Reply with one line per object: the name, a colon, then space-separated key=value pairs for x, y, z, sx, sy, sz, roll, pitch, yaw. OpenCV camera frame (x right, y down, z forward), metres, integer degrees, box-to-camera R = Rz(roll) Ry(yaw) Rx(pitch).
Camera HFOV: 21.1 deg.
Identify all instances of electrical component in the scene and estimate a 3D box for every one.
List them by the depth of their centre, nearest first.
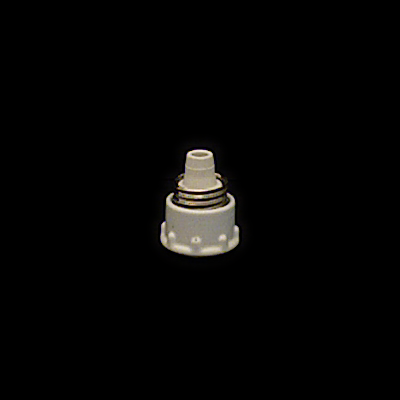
electrical component: x=0.000 y=0.000 z=0.644 sx=0.048 sy=0.063 sz=0.047 roll=0 pitch=23 yaw=0
